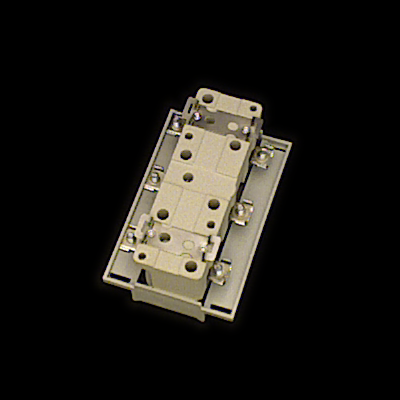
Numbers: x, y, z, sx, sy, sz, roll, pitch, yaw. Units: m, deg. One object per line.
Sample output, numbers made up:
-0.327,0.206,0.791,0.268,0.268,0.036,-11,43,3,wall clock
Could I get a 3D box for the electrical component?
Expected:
0.000,0.000,0.633,0.078,0.121,0.063,16,-25,7,electrical component
